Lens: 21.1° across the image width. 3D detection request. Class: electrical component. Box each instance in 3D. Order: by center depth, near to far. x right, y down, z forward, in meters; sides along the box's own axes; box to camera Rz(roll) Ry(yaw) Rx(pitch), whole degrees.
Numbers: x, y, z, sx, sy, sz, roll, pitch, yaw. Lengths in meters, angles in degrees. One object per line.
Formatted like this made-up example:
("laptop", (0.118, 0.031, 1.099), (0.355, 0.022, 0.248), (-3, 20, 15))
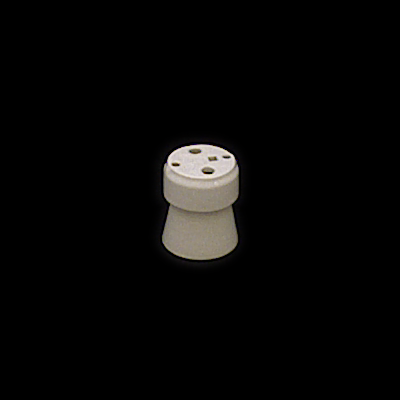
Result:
("electrical component", (0.000, 0.000, 0.634), (0.045, 0.056, 0.044), (0, 32, 0))
